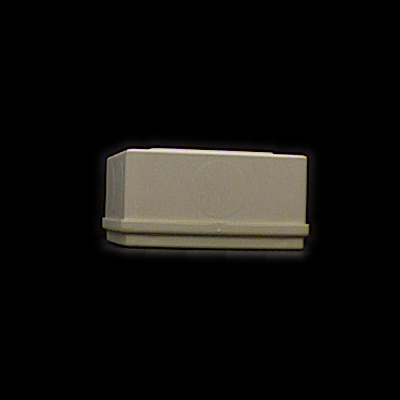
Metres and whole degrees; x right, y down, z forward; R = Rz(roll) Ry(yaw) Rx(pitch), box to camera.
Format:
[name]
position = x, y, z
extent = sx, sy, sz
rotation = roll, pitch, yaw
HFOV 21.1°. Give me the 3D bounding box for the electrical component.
[electrical component]
position = 0.000, 0.000, 0.652
extent = 0.109, 0.056, 0.108
rotation = 2, 0, -11
